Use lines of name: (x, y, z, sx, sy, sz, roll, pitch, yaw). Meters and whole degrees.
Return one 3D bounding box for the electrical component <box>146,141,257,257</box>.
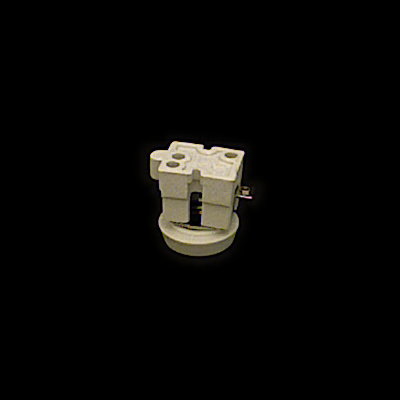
electrical component: (0.000, 0.000, 0.643, 0.066, 0.056, 0.048, 8, 32, 9)
